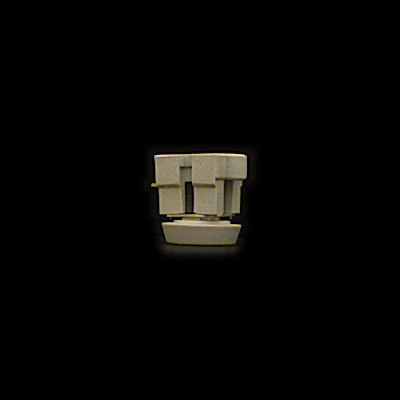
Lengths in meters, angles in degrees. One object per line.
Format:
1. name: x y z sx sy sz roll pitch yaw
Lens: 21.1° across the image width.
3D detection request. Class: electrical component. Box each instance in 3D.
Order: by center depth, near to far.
1. electrical component: 0.000 0.000 0.657 0.066 0.055 0.049 1 3 28
